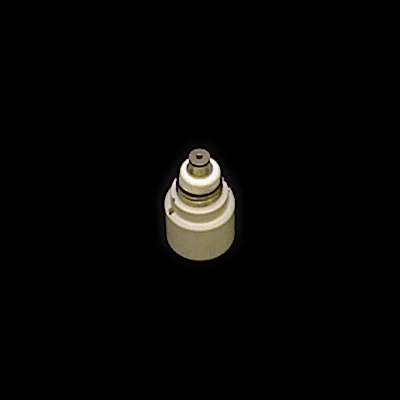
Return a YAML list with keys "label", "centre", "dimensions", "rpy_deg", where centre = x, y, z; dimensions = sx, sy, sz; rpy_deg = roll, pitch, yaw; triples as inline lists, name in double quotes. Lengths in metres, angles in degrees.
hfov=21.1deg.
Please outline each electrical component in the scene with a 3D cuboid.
- label: "electrical component"
  centre: [0.000, 0.000, 0.621]
  dimensions: [0.040, 0.040, 0.079]
  rpy_deg: [0, -37, 0]
